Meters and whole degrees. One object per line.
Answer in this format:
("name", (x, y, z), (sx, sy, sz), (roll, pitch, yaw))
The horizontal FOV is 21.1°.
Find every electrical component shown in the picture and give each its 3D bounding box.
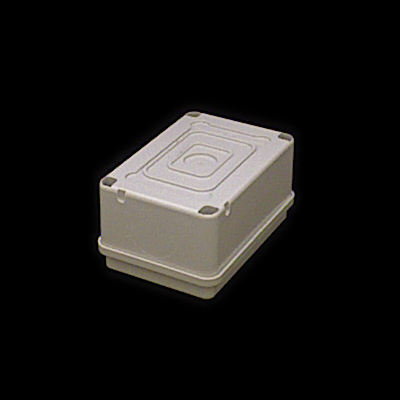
("electrical component", (0.000, 0.000, 0.635), (0.078, 0.058, 0.112), (16, 34, 24))
